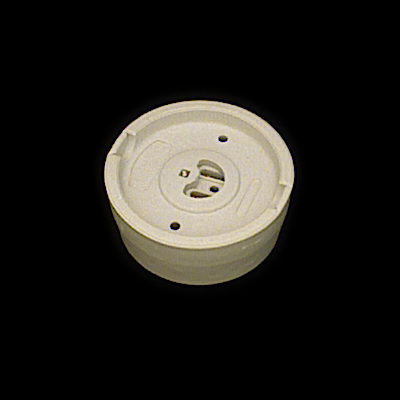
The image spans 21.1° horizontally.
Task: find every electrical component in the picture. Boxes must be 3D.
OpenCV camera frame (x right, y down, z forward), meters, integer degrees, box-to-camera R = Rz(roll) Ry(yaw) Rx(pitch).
[{"bbox_3d":[0.000,0.000,0.634,0.108,0.107,0.060,0,-37,-1],"label":"electrical component"}]
